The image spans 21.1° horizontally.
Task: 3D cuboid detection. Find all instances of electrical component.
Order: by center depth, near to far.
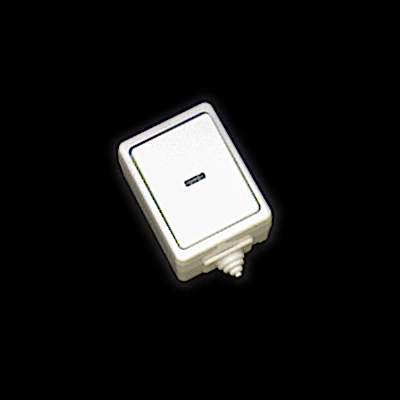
[{"bbox_3d":[0.000,0.000,0.625,0.062,0.096,0.060,-27,-15,-8],"label":"electrical component"}]
